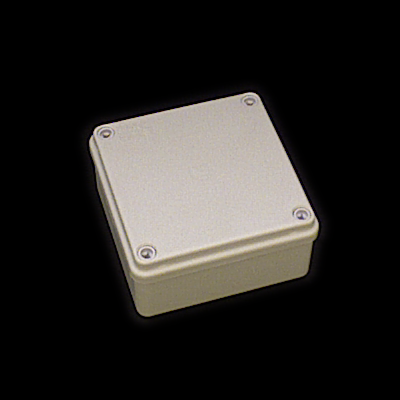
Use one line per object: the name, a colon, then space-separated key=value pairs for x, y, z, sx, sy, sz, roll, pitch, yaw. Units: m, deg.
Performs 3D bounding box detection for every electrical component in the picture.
electrical component: x=0.000 y=0.000 z=0.630 sx=0.109 sy=0.108 sz=0.056 roll=-14 pitch=-36 yaw=-11
